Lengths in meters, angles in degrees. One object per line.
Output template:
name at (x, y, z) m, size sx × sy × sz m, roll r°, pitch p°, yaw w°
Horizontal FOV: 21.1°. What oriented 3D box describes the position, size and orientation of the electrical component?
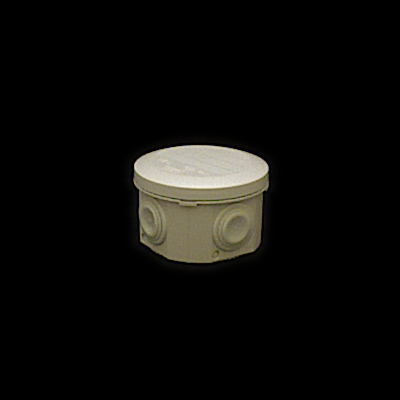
electrical component at (0.000, 0.000, 0.642) m, size 0.080 × 0.051 × 0.079 m, roll 1°, pitch 21°, yaw 0°
